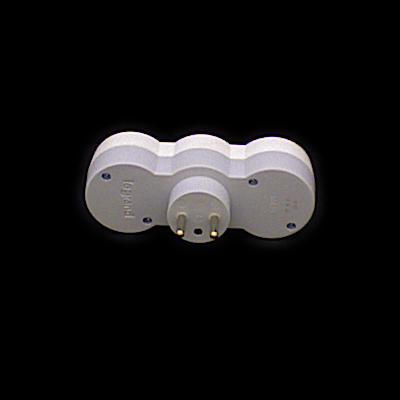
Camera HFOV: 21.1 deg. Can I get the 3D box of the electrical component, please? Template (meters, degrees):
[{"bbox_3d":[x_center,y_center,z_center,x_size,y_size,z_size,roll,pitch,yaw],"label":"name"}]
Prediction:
[{"bbox_3d":[0.000,0.000,0.637,0.138,0.053,0.073,2,34,1],"label":"electrical component"}]
